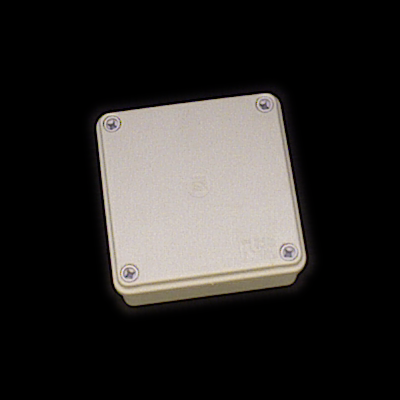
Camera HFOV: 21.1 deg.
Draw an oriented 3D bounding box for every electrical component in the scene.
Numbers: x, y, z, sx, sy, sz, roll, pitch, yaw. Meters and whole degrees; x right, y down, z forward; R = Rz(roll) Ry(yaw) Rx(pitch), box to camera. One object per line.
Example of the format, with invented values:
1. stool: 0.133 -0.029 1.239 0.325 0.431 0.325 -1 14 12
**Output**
1. electrical component: 0.000 0.000 0.630 0.109 0.109 0.056 -7 -17 -2
